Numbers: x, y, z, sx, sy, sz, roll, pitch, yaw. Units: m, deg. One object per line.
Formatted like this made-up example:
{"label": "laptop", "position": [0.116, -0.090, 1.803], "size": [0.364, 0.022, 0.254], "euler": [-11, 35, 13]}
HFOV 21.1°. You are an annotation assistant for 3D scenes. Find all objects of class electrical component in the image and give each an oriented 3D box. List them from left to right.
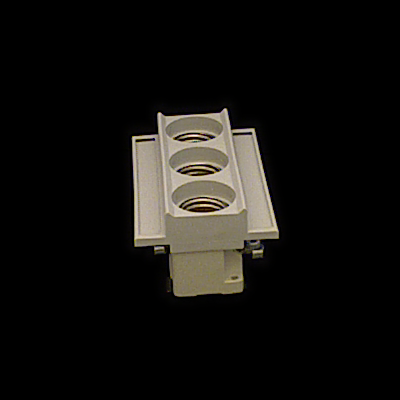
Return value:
{"label": "electrical component", "position": [0.000, 0.000, 0.645], "size": [0.079, 0.064, 0.119], "euler": [-3, 32, -2]}
